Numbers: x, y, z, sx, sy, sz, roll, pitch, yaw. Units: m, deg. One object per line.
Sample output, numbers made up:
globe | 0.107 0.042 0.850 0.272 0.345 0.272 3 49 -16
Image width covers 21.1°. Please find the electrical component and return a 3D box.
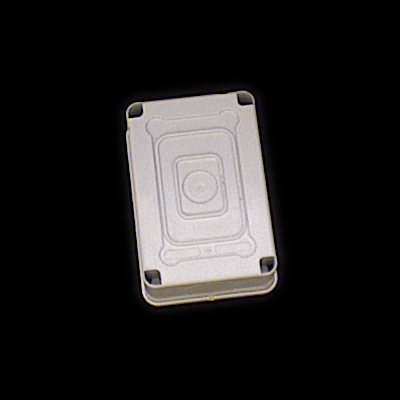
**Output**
electrical component | 0.000 0.000 0.627 0.078 0.113 0.057 -6 -16 -2
